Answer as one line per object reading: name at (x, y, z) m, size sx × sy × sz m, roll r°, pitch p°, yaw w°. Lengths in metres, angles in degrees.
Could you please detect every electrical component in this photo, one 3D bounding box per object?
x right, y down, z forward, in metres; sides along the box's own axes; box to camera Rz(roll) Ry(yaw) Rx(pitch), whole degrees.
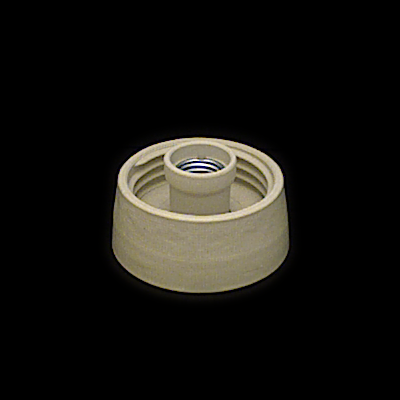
electrical component at (0.000, 0.000, 0.642) m, size 0.108 × 0.061 × 0.106 m, roll 1°, pitch 32°, yaw 0°
